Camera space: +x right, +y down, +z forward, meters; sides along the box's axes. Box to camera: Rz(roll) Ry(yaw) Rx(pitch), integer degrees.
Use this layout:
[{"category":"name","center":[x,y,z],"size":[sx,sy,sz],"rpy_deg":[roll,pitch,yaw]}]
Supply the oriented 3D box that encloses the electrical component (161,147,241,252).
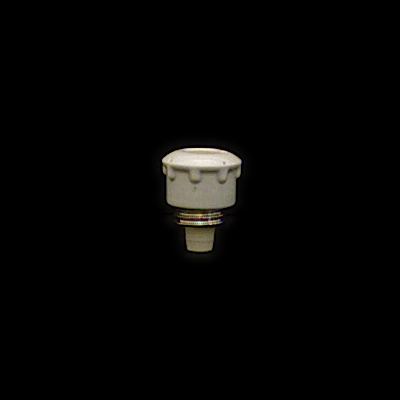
[{"category":"electrical component","center":[0.000,0.000,0.654],"size":[0.048,0.062,0.048],"rpy_deg":[1,11,0]}]
